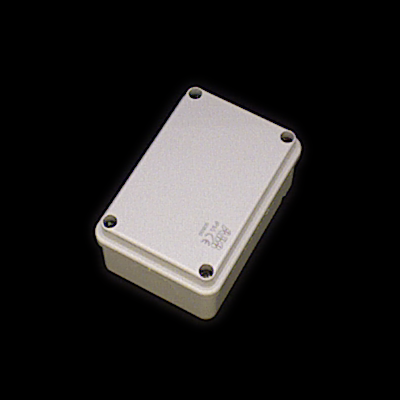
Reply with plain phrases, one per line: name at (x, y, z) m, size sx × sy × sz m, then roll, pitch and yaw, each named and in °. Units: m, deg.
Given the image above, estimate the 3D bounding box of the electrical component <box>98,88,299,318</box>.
electrical component at (0.000, 0.000, 0.626) m, size 0.078 × 0.113 × 0.057 m, roll 26°, pitch -24°, yaw 12°
